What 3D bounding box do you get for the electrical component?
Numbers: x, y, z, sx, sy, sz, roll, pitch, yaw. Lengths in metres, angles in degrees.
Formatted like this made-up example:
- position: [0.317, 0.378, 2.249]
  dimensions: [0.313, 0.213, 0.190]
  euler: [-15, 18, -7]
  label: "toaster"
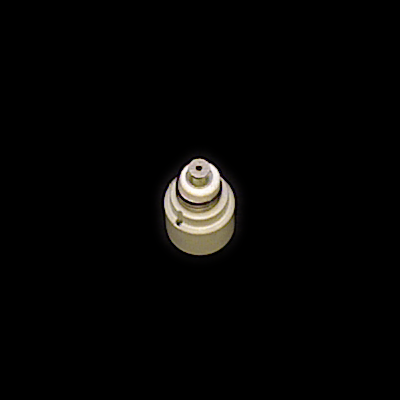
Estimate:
- position: [0.000, 0.000, 0.619]
  dimensions: [0.040, 0.040, 0.078]
  euler: [0, -26, 0]
  label: "electrical component"
